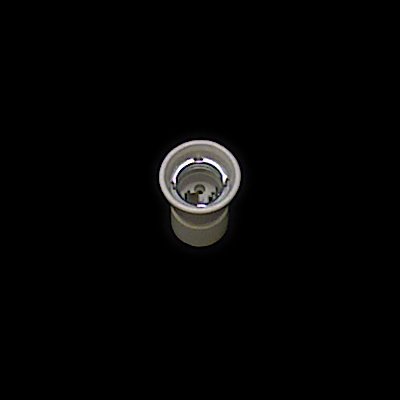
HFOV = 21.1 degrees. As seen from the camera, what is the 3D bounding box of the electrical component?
[{"bbox_3d":[0.000,0.000,0.624,0.044,0.044,0.065,0,-26,-1],"label":"electrical component"}]
